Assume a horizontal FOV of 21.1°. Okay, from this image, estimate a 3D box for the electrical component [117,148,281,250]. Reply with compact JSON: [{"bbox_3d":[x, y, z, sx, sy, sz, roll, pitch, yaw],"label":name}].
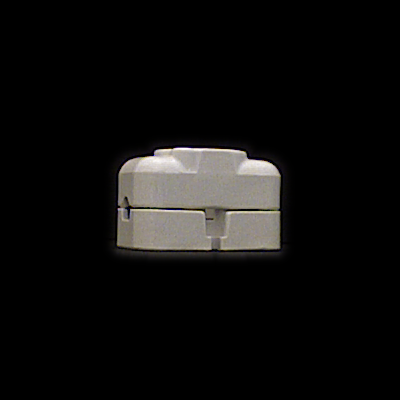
[{"bbox_3d":[0.000,0.000,0.655,0.096,0.059,0.053,1,1,-24],"label":"electrical component"}]
